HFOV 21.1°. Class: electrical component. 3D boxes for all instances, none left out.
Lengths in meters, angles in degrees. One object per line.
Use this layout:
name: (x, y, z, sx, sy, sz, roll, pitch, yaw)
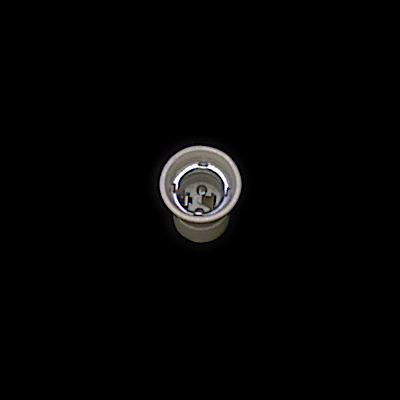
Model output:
electrical component: (0.000, 0.000, 0.625, 0.044, 0.044, 0.065, 0, -18, 1)
